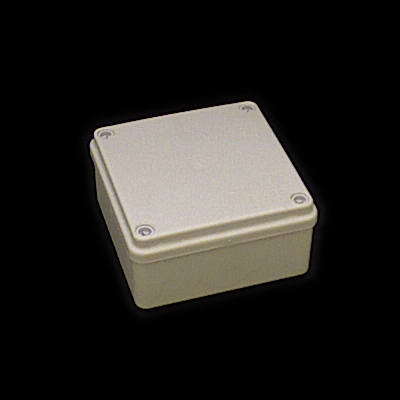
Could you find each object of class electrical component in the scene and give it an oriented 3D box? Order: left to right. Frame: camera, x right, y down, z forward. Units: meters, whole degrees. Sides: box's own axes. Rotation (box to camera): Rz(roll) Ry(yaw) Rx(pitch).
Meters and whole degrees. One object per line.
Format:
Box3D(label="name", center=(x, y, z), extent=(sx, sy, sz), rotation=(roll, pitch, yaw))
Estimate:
Box3D(label="electrical component", center=(0.000, 0.000, 0.633), extent=(0.109, 0.057, 0.107), rotation=(-12, 43, -13))
